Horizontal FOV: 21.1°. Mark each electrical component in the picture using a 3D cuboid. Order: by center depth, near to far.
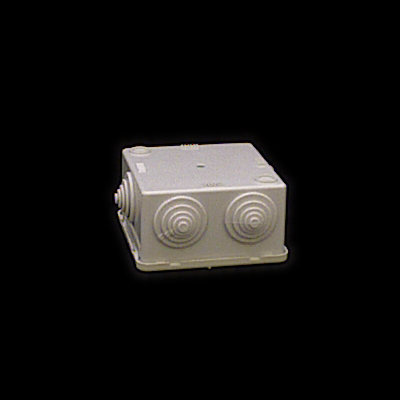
[{"bbox_3d":[0.000,0.000,0.641,0.100,0.049,0.098,-3,22,-12],"label":"electrical component"}]
